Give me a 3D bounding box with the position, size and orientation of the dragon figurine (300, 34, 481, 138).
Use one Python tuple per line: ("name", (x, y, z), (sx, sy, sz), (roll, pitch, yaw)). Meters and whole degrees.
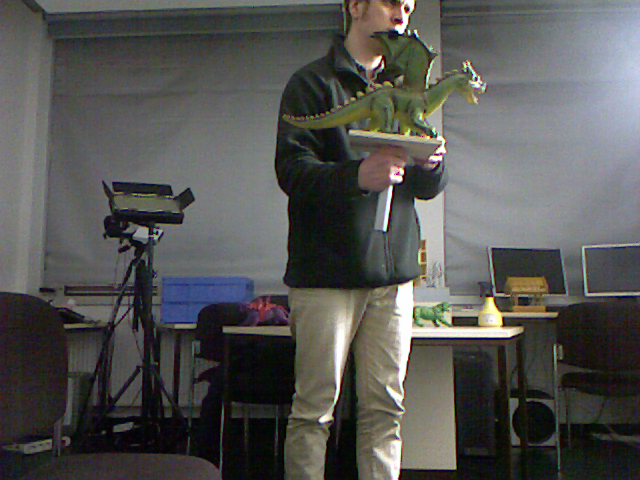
("dragon figurine", (0.168, -0.358, 1.208), (0.411, 0.242, 0.123), (9, 6, 4))
